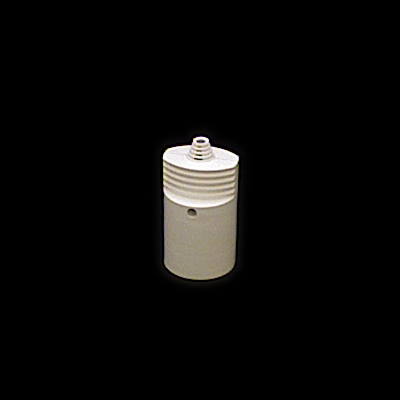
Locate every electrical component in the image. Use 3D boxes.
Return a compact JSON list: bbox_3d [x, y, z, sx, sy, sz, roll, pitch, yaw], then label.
[{"bbox_3d":[0.000,0.000,0.629,0.043,0.082,0.042,1,31,0],"label":"electrical component"}]
